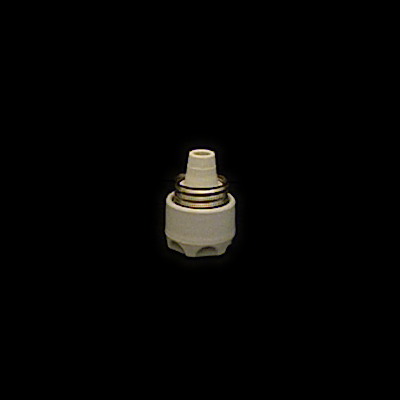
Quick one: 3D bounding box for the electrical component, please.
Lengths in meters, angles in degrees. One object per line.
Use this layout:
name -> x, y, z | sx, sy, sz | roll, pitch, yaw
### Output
electrical component -> 0.000, 0.000, 0.647 | 0.043, 0.063, 0.043 | 2, 21, 0
